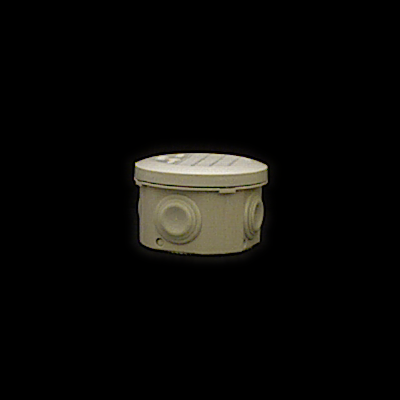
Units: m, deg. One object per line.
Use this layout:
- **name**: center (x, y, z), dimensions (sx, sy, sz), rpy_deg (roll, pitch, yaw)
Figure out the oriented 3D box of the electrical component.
- **electrical component**: center (0.000, 0.000, 0.647), dimensions (0.080, 0.051, 0.079), rpy_deg (1, 10, 0)
